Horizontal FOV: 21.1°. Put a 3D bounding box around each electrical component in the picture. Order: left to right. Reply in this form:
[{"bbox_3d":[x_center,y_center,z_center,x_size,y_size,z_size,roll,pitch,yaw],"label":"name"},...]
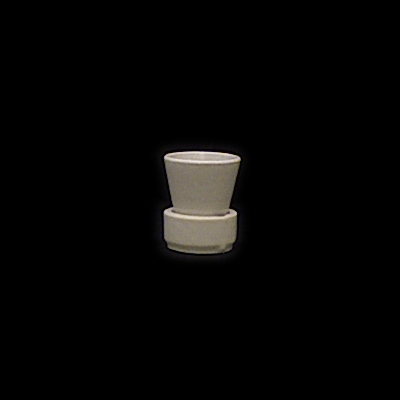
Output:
[{"bbox_3d":[0.000,0.000,0.647,0.045,0.055,0.044,2,11,0],"label":"electrical component"}]
